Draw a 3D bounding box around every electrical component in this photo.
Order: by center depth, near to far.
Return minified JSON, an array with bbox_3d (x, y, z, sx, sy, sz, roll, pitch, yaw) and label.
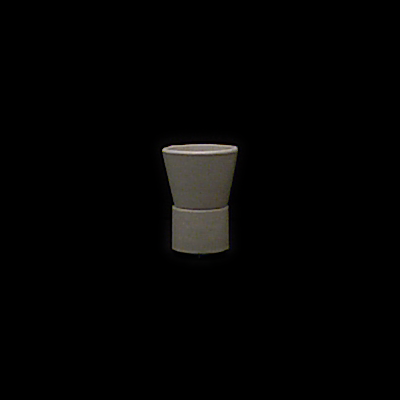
[{"bbox_3d":[0.000,0.000,0.643,0.044,0.066,0.044,0,11,0],"label":"electrical component"}]
